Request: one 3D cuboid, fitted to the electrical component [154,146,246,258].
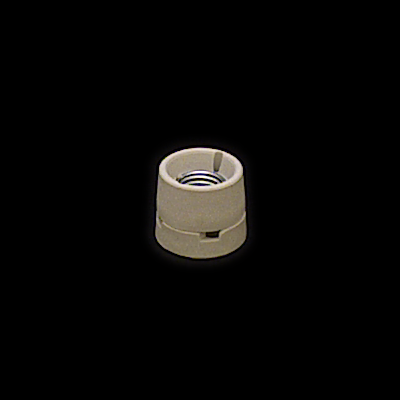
[{"bbox_3d":[0.000,0.000,0.636,0.055,0.047,0.055,0,32,0],"label":"electrical component"}]
